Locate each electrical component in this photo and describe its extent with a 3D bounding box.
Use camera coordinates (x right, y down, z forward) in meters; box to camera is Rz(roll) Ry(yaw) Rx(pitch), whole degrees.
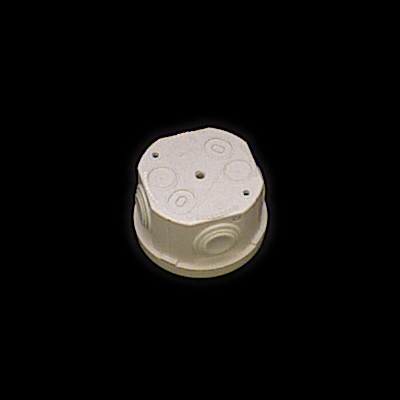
[{"bbox_3d":[0.000,0.000,0.633,0.080,0.080,0.051,0,-38,0],"label":"electrical component"}]
